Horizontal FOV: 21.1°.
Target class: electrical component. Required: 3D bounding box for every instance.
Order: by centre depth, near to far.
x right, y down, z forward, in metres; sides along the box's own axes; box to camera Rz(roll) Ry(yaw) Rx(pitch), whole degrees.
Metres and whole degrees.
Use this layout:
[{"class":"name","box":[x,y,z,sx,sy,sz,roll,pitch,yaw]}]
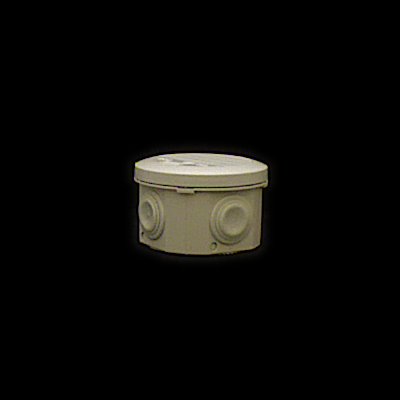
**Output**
[{"class":"electrical component","box":[0.000,0.000,0.647,0.080,0.051,0.079,1,10,0]}]
